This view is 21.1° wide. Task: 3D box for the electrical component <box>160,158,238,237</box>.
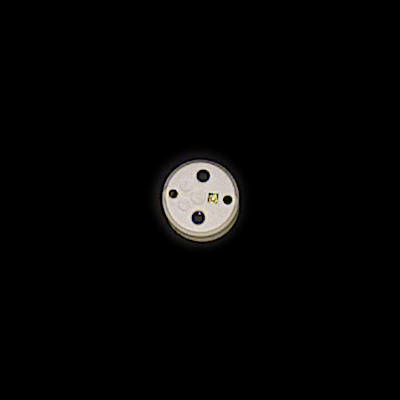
[{"bbox_3d":[0.000,0.000,0.629,0.045,0.045,0.055,0,-6,1],"label":"electrical component"}]
